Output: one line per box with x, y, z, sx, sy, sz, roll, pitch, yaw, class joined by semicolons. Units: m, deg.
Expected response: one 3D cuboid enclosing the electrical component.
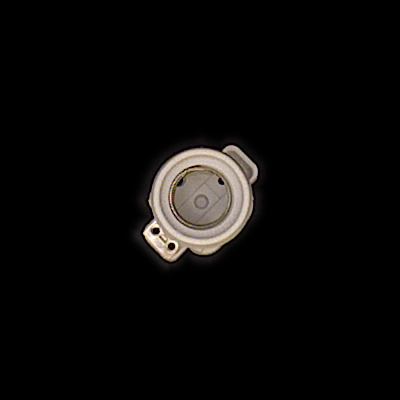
0.000;0.000;0.629;0.058;0.079;0.056;45;-4;5;electrical component
